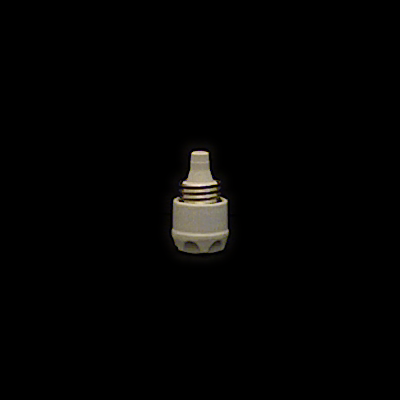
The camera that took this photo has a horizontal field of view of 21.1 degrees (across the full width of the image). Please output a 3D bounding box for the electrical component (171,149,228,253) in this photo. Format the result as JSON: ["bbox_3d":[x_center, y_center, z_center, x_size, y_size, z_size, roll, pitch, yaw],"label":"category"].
[{"bbox_3d":[0.000,0.000,0.656,0.035,0.062,0.035,-1,12,0],"label":"electrical component"}]
